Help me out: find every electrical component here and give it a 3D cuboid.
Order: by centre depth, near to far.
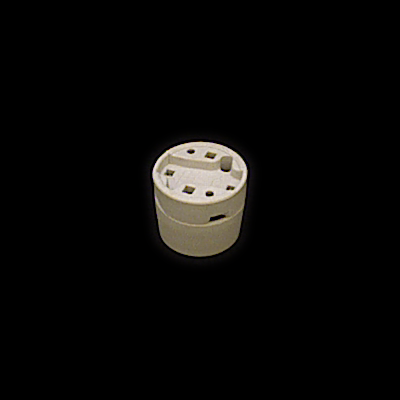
[{"bbox_3d":[0.000,0.000,0.635,0.055,0.047,0.055,1,42,-1],"label":"electrical component"}]
